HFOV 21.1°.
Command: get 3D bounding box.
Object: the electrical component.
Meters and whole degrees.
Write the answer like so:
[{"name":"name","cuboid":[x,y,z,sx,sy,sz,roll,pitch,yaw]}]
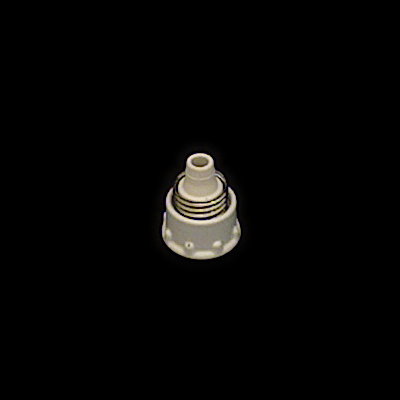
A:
[{"name":"electrical component","cuboid":[0.000,0.000,0.638,0.048,0.062,0.047,0,41,0]}]
